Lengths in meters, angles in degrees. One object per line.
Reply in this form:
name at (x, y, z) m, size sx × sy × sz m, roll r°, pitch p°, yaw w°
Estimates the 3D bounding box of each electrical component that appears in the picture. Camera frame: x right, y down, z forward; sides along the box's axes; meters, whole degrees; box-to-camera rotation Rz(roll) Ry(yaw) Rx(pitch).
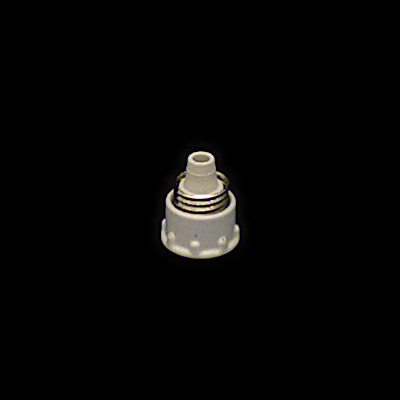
electrical component at (0.000, 0.000, 0.640) m, size 0.048 × 0.063 × 0.047 m, roll 1°, pitch 33°, yaw 0°
